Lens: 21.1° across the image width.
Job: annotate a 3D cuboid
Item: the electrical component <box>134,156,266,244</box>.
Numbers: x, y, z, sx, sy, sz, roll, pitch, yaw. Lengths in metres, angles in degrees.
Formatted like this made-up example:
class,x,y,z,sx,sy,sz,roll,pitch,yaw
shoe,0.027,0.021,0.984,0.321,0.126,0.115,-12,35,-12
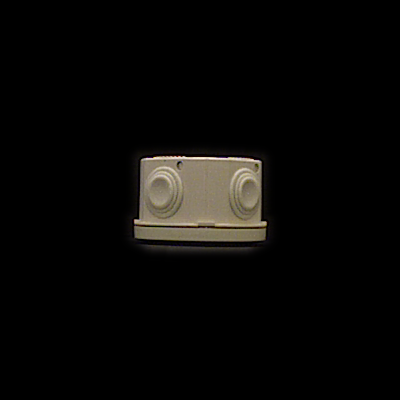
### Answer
class,x,y,z,sx,sy,sz,roll,pitch,yaw
electrical component,0.000,0.000,0.650,0.080,0.051,0.080,1,0,0
